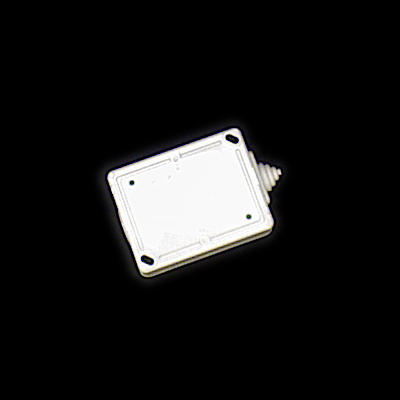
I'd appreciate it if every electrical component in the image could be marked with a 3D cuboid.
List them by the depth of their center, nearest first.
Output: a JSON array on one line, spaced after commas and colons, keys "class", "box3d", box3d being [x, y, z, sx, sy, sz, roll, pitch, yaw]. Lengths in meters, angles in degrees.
[{"class": "electrical component", "box3d": [0.000, 0.001, 0.627, 0.096, 0.062, 0.061, -20, -7, -2]}]
